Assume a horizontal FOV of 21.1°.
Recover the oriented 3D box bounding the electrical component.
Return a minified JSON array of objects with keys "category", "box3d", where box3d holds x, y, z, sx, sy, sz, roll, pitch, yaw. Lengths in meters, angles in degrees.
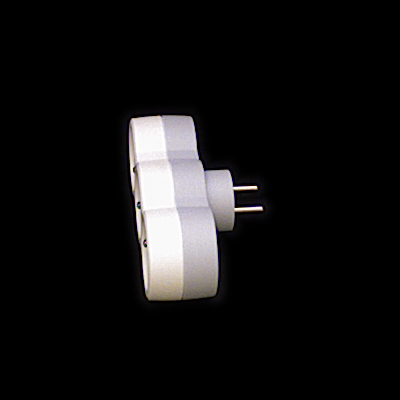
[{"category":"electrical component","box3d":[0.000,0.000,0.636,0.074,0.052,0.137,-3,41,-8]}]
